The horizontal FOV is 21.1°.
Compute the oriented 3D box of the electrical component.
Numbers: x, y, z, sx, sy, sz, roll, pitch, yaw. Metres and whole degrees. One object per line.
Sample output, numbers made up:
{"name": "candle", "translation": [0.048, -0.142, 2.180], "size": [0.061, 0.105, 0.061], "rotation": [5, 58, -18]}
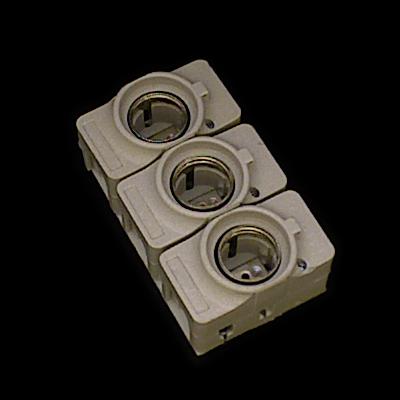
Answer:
{"name": "electrical component", "translation": [0.000, 0.000, 0.632], "size": [0.089, 0.149, 0.062], "rotation": [-27, -23, -14]}
